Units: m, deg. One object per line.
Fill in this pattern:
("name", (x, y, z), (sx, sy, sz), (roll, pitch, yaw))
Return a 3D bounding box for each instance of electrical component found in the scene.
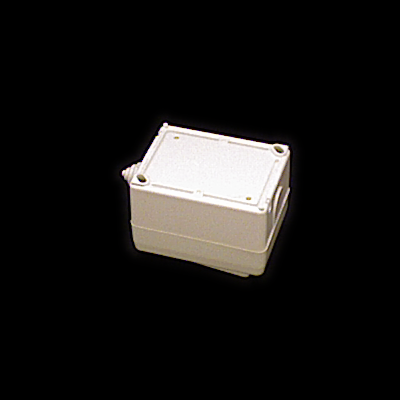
("electrical component", (0.000, 0.000, 0.634), (0.096, 0.061, 0.061), (11, 43, 13))
